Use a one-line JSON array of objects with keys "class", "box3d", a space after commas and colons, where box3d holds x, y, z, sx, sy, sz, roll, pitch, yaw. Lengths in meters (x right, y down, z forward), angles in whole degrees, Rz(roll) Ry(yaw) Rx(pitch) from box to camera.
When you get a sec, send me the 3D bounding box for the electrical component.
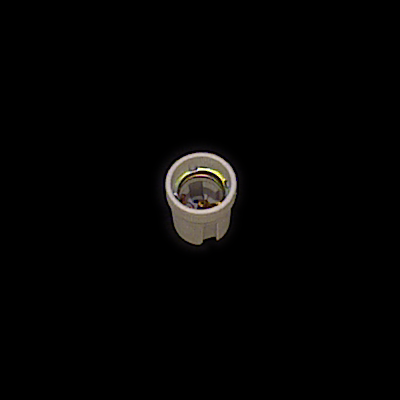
[{"class": "electrical component", "box3d": [0.000, 0.000, 0.629, 0.040, 0.040, 0.046, 0, -28, 0]}]
